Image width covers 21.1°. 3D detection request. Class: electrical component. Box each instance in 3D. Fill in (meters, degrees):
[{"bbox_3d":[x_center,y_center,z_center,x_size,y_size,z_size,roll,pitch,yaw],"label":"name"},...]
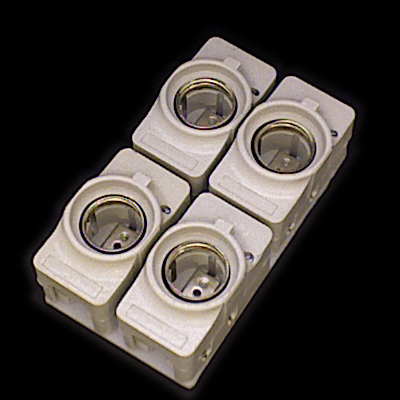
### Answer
[{"bbox_3d":[0.000,0.000,0.626,0.105,0.187,0.060,30,-24,14],"label":"electrical component"}]
